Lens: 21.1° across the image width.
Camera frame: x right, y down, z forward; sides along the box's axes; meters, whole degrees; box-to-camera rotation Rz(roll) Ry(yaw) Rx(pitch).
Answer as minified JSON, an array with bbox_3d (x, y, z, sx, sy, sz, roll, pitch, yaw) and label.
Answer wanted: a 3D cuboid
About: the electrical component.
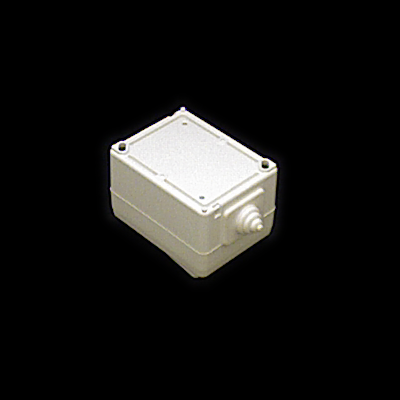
[{"bbox_3d":[0.000,0.000,0.628,0.061,0.061,0.096,-32,51,-32],"label":"electrical component"}]
